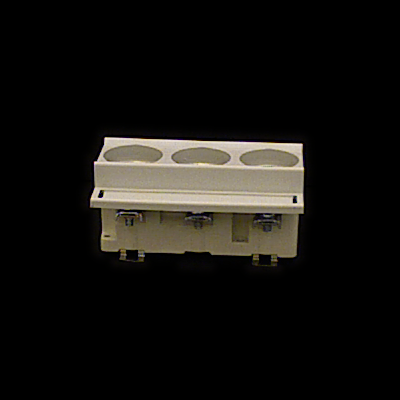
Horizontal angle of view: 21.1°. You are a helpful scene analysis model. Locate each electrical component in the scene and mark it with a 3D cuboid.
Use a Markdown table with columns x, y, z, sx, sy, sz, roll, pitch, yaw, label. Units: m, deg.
| x | y | z | sx | sy | sz | roll | pitch | yaw | label |
| --- | --- | --- | --- | --- | --- | --- | --- | --- | --- |
| 0.000 | 0.000 | 0.650 | 0.121 | 0.064 | 0.077 | 2 | 23 | 3 | electrical component |
